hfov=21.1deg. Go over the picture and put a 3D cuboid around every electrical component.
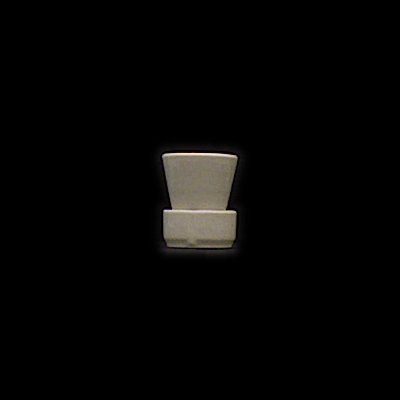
[{"bbox_3d":[0.000,0.000,0.648,0.045,0.055,0.045,1,0,0],"label":"electrical component"}]
